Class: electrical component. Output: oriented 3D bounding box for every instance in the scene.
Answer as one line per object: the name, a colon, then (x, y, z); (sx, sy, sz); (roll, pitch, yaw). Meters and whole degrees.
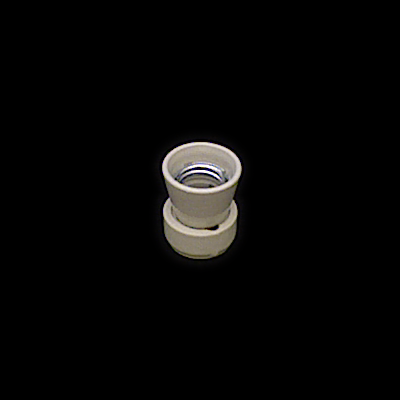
electrical component: (0.000, 0.000, 0.633); (0.045, 0.056, 0.044); (1, 42, -1)
